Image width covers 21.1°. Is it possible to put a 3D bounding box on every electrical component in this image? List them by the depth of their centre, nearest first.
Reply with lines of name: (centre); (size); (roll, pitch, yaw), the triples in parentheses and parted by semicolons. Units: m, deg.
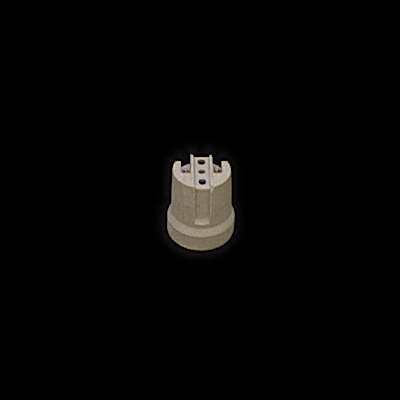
electrical component: (0.000, 0.000, 0.636); (0.040, 0.046, 0.040); (1, 43, -1)
